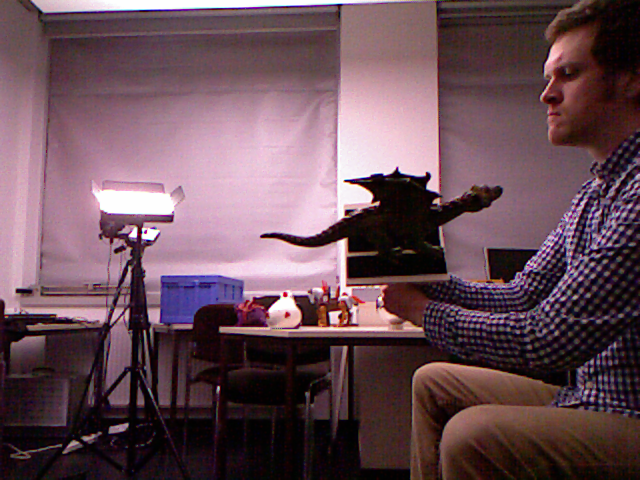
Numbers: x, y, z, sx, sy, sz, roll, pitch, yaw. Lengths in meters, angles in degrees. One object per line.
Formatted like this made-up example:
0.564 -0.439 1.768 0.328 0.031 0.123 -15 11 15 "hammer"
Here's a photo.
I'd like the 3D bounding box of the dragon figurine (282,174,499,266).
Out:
0.124 -0.055 0.960 0.411 0.125 0.238 -4 -32 0 "dragon figurine"
